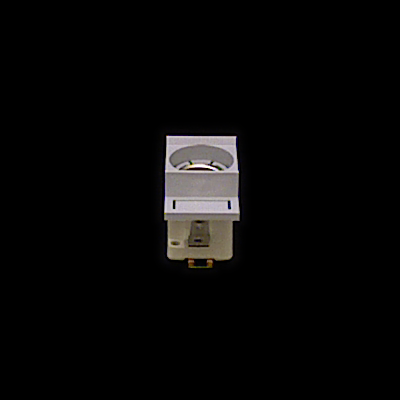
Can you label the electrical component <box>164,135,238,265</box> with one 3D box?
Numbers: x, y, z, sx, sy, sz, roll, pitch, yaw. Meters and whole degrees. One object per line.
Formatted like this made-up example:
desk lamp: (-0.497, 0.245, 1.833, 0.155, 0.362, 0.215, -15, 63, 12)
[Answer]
electrical component: (0.000, 0.000, 0.630, 0.042, 0.064, 0.080, 2, 31, -1)
